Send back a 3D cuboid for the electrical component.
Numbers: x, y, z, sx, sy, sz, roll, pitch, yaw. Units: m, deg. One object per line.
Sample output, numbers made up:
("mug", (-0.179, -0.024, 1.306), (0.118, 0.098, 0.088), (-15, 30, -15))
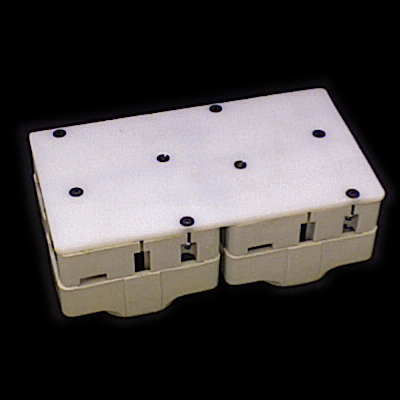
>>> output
("electrical component", (0.000, 0.000, 0.630), (0.186, 0.061, 0.104), (-10, 43, -11))
